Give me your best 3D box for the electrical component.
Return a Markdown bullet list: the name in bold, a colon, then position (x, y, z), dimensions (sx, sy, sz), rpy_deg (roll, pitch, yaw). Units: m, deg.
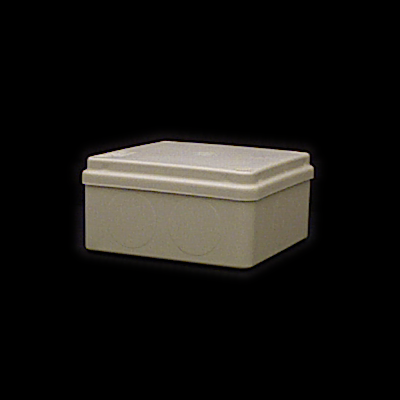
- **electrical component**: position (0.000, 0.000, 0.645), dimensions (0.108, 0.056, 0.108), rpy_deg (6, 11, 24)
